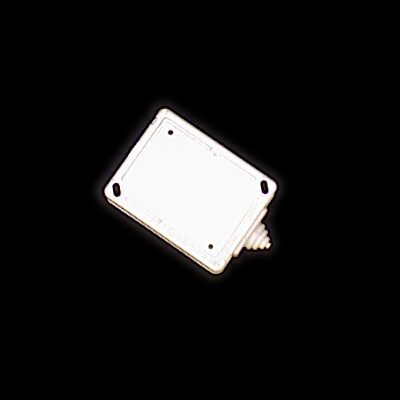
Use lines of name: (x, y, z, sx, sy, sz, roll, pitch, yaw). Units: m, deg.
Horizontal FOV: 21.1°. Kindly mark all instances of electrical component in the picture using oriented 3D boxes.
electrical component: (0.000, 0.000, 0.629, 0.096, 0.062, 0.061, 34, -5, 3)
